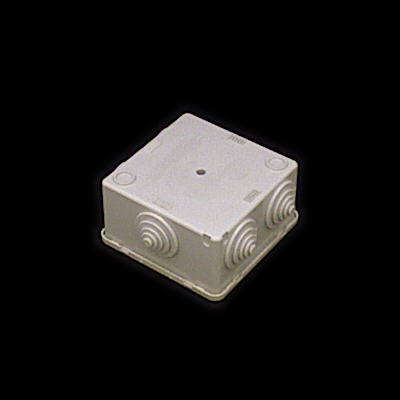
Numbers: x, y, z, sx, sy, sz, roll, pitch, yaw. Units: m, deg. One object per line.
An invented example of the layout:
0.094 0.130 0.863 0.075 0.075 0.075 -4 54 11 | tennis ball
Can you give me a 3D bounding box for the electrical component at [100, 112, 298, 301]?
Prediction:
0.000 0.000 0.633 0.099 0.049 0.099 27 48 25 | electrical component
